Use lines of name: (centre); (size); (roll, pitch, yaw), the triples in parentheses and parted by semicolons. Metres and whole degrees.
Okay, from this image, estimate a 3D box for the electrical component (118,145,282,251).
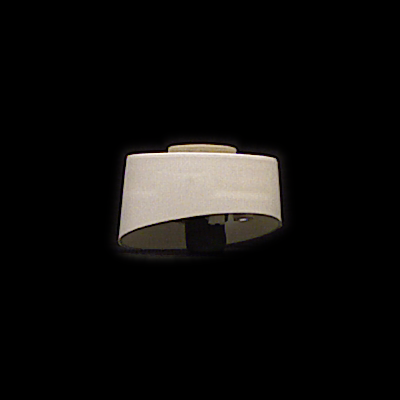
electrical component: (0.000, 0.000, 0.650); (0.099, 0.064, 0.099); (1, 0, 0)
